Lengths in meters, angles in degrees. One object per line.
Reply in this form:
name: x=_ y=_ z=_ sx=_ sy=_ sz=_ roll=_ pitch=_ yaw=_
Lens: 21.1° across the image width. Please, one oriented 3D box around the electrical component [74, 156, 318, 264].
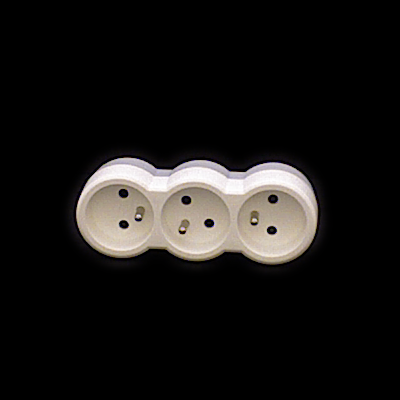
electrical component: x=0.000 y=0.000 z=0.640 sx=0.138 sy=0.053 sz=0.073 roll=2 pitch=19 yaw=4
